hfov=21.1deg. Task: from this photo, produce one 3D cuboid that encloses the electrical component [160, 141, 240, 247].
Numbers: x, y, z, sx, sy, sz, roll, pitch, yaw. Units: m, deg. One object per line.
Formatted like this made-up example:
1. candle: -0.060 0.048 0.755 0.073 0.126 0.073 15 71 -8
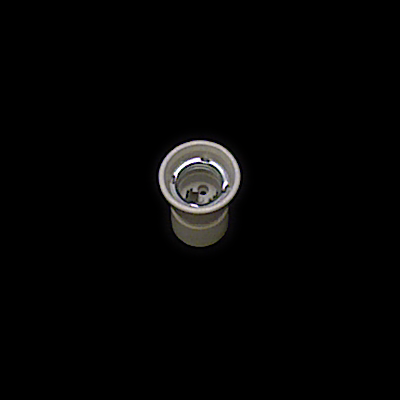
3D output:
1. electrical component: 0.000 0.000 0.624 0.044 0.044 0.065 0 -26 0
